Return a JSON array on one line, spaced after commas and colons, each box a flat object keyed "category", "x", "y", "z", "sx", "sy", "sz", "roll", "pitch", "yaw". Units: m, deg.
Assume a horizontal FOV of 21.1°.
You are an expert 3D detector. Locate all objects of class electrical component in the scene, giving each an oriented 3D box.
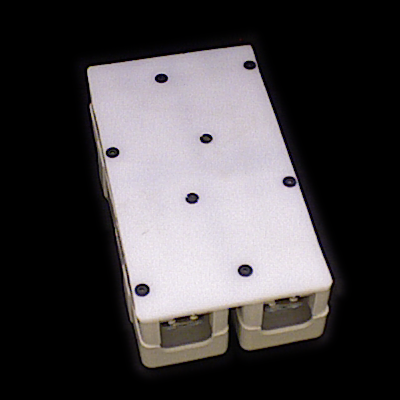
[{"category": "electrical component", "x": 0.000, "y": 0.000, "z": 0.627, "sx": 0.105, "sy": 0.185, "sz": 0.060, "roll": -10, "pitch": -37, "yaw": -8}]
